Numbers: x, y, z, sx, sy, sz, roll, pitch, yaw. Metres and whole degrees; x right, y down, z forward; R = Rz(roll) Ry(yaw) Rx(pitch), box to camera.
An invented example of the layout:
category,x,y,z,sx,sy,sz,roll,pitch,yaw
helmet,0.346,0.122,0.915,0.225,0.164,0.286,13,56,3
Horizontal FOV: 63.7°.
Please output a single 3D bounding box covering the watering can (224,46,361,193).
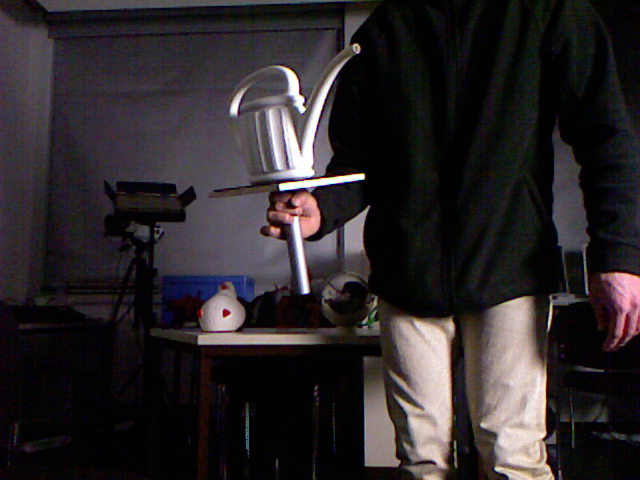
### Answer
category,x,y,z,sx,sy,sz,roll,pitch,yaw
watering can,-0.053,-0.193,0.885,0.347,0.223,0.105,-1,13,46
